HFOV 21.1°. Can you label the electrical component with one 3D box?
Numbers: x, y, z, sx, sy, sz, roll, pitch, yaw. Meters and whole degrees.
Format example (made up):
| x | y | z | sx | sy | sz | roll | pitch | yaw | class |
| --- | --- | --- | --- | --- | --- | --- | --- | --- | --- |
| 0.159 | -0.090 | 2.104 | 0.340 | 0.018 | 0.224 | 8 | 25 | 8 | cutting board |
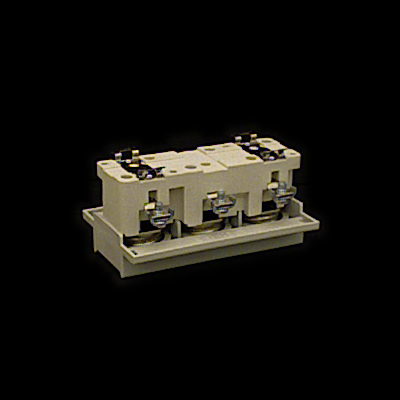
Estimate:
| x | y | z | sx | sy | sz | roll | pitch | yaw | class |
| --- | --- | --- | --- | --- | --- | --- | --- | --- | --- |
| 0.000 | 0.000 | 0.648 | 0.122 | 0.064 | 0.077 | -9 | 23 | -26 | electrical component |
